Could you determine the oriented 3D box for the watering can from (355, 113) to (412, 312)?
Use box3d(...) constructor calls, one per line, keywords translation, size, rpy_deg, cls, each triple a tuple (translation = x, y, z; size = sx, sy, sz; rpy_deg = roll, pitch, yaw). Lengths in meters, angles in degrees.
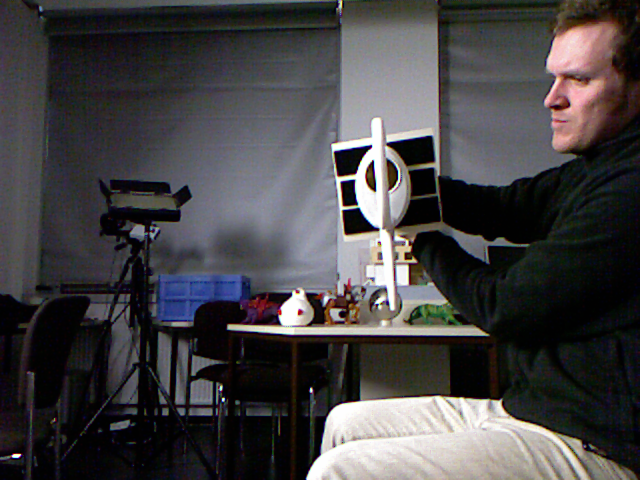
box3d(translation=(0.124, -0.061, 0.971), size=(0.104, 0.347, 0.227), rpy_deg=(-4, 9, 10), cls="watering can")
